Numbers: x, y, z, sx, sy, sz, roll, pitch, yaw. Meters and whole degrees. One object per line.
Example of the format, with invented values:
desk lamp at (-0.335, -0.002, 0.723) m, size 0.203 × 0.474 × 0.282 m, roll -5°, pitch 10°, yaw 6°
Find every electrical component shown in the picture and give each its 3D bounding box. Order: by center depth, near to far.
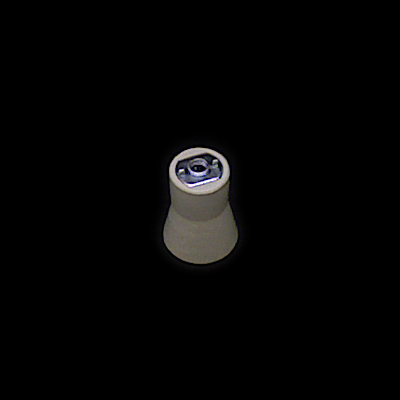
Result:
electrical component at (0.000, 0.000, 0.628) m, size 0.044 × 0.044 × 0.065 m, roll 0°, pitch -39°, yaw 0°
